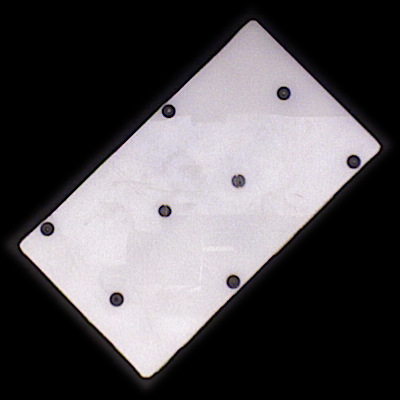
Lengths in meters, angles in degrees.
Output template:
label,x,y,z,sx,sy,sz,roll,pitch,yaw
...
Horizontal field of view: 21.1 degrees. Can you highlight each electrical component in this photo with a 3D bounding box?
label,x,y,z,sx,sy,sz,roll,pitch,yaw
electrical component,0.000,0.000,0.625,0.187,0.105,0.060,-44,-5,-5
